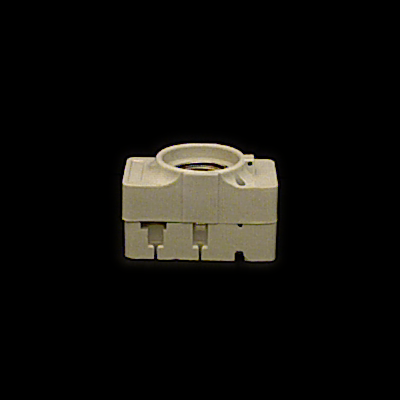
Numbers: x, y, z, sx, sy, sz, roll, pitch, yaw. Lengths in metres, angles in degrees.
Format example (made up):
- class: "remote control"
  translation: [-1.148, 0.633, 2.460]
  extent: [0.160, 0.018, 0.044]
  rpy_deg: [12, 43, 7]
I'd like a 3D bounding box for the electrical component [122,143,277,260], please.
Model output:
- class: "electrical component"
  translation: [0.000, 0.000, 0.646]
  extent: [0.090, 0.056, 0.049]
  rpy_deg: [1, 22, -1]
